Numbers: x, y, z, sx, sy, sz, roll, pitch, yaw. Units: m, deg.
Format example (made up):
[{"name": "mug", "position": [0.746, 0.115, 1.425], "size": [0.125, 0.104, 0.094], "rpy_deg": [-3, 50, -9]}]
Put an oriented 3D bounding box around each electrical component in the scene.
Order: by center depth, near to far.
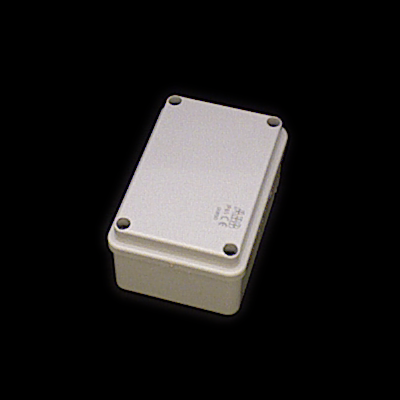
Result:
[{"name": "electrical component", "position": [0.000, 0.000, 0.628], "size": [0.078, 0.113, 0.057], "rpy_deg": [13, -37, 9]}]
